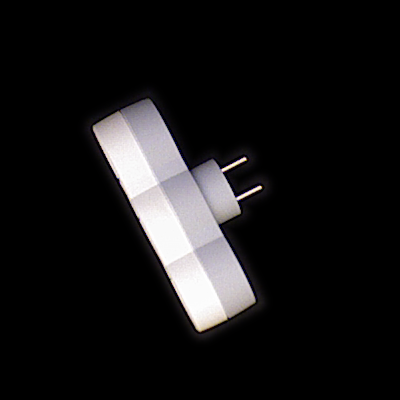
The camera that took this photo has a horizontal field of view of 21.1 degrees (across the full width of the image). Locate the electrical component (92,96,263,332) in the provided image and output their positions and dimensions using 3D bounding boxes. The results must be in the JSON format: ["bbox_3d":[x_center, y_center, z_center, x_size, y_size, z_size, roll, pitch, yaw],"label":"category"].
[{"bbox_3d":[0.000,0.000,0.632,0.074,0.138,0.052,-28,-7,-5],"label":"electrical component"}]
